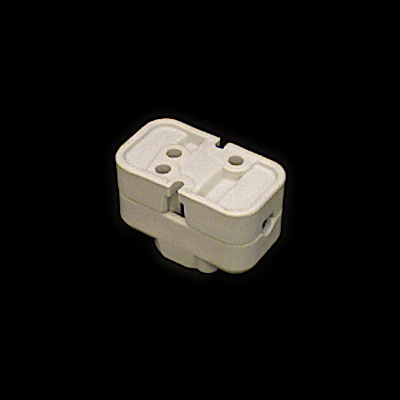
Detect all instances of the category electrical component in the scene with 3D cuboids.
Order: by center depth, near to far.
[{"bbox_3d":[0.000,0.000,0.636,0.094,0.060,0.054,24,48,23],"label":"electrical component"}]
